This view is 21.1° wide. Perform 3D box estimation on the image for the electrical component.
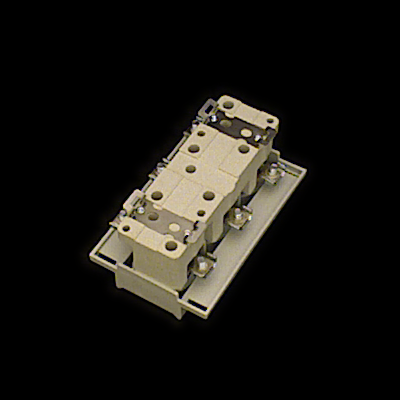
[{"bbox_3d":[0.000,0.000,0.635,0.078,0.121,0.063,26,-33,17],"label":"electrical component"}]
